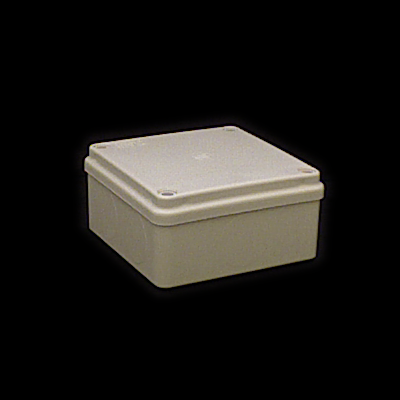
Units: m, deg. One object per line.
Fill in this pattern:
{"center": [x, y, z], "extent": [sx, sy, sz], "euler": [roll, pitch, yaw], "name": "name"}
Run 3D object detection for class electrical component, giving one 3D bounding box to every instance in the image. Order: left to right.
{"center": [0.000, 0.000, 0.639], "extent": [0.108, 0.057, 0.107], "euler": [-10, 24, -27], "name": "electrical component"}
